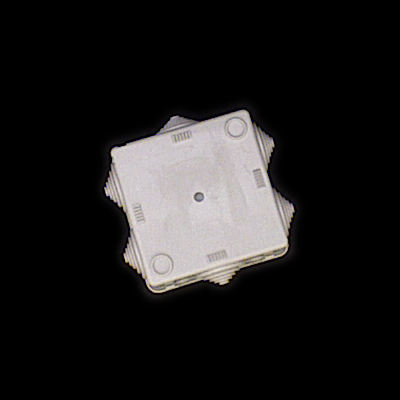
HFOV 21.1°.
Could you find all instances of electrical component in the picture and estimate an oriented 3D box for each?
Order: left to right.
[{"bbox_3d":[0.000,0.000,0.633,0.100,0.100,0.048,-16,-6,-2],"label":"electrical component"}]
